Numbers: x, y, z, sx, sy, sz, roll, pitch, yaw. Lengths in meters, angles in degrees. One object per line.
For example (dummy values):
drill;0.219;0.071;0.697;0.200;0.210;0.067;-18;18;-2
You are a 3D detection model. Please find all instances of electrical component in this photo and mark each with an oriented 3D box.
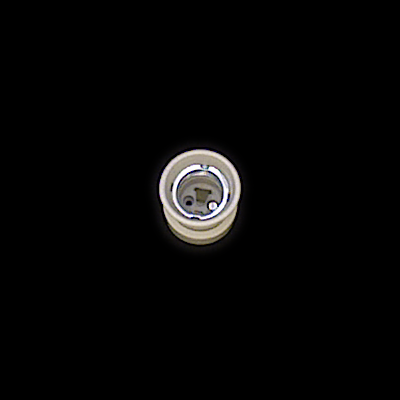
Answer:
electrical component;0.000;0.000;0.627;0.045;0.045;0.055;0;-16;1
